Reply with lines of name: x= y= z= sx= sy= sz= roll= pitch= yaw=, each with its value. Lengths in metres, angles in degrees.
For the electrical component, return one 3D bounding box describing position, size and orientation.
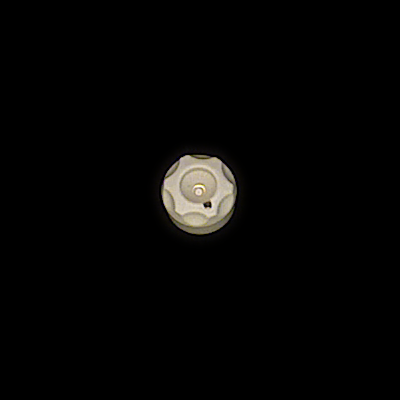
electrical component: x=0.000 y=0.000 z=0.634 sx=0.043 sy=0.043 sz=0.061 roll=0 pitch=-16 yaw=1
